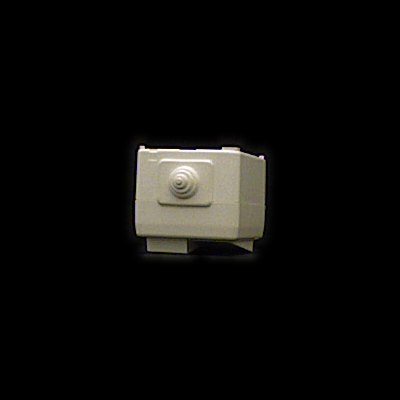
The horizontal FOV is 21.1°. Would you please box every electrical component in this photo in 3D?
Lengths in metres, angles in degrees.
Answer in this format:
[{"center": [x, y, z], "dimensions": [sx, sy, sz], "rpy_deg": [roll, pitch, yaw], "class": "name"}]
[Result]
[{"center": [0.000, 0.000, 0.642], "dimensions": [0.061, 0.061, 0.096], "rpy_deg": [2, 0, 15], "class": "electrical component"}]
